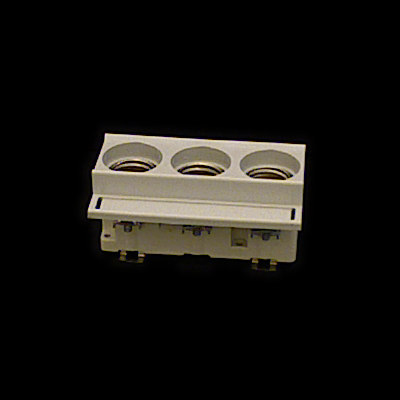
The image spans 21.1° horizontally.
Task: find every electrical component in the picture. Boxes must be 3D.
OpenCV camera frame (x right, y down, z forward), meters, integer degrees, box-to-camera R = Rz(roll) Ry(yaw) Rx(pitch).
[{"bbox_3d":[0.000,0.000,0.645,0.121,0.064,0.077,4,34,5],"label":"electrical component"}]
